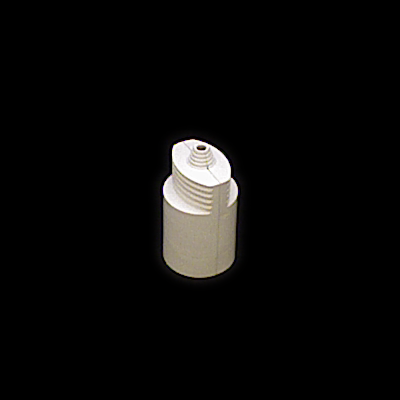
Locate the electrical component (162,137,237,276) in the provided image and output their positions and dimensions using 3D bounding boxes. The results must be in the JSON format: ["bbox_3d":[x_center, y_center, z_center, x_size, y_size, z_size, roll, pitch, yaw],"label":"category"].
[{"bbox_3d":[0.000,0.000,0.623,0.043,0.082,0.042,0,42,0],"label":"electrical component"}]
